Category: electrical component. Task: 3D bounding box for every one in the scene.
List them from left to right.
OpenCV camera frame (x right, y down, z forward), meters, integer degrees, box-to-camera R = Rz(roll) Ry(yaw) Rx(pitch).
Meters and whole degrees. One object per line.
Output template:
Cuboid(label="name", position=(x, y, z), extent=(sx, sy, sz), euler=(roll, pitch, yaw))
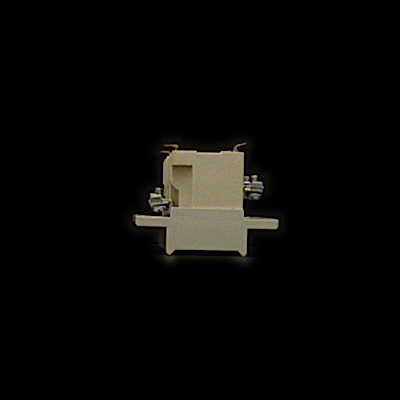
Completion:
Cuboid(label="electrical component", position=(0.000, 0.000, 0.655), extent=(0.079, 0.063, 0.121), euler=(1, 0, -5))
